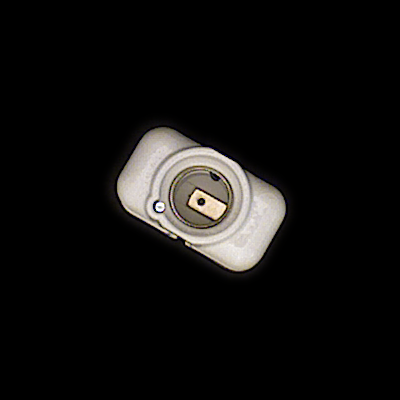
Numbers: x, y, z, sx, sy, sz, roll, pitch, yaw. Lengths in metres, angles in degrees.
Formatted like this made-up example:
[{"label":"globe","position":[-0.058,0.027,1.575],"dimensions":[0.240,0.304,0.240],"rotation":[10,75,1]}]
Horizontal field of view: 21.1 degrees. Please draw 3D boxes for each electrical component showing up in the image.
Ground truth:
[{"label":"electrical component","position":[0.000,0.000,0.635],"dimensions":[0.095,0.054,0.059],"rotation":[29,-4,3]}]
